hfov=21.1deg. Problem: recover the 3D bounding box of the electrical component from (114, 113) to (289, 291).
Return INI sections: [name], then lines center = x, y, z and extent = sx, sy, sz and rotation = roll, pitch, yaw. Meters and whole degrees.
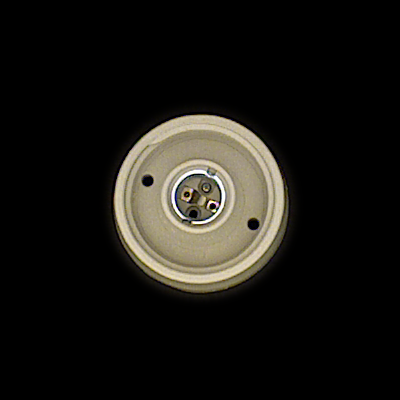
[electrical component]
center = 0.000, 0.000, 0.635
extent = 0.108, 0.108, 0.060
rotation = 0, -6, 0
